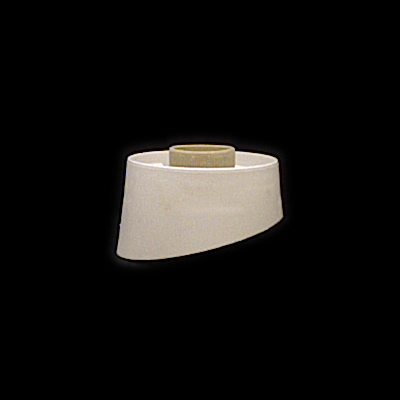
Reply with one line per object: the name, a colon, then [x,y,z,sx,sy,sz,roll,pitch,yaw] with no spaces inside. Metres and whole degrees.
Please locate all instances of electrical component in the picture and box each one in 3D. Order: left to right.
electrical component: [0.000,0.000,0.645,0.099,0.064,0.098,1,10,0]
